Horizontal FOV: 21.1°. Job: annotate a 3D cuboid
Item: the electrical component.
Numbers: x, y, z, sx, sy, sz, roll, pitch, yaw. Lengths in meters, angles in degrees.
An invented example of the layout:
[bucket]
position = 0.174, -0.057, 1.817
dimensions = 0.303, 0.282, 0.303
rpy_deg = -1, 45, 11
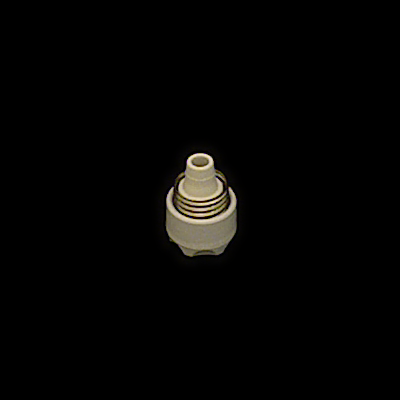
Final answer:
[electrical component]
position = 0.000, 0.000, 0.638
dimensions = 0.043, 0.062, 0.043
rpy_deg = 0, 41, 1
